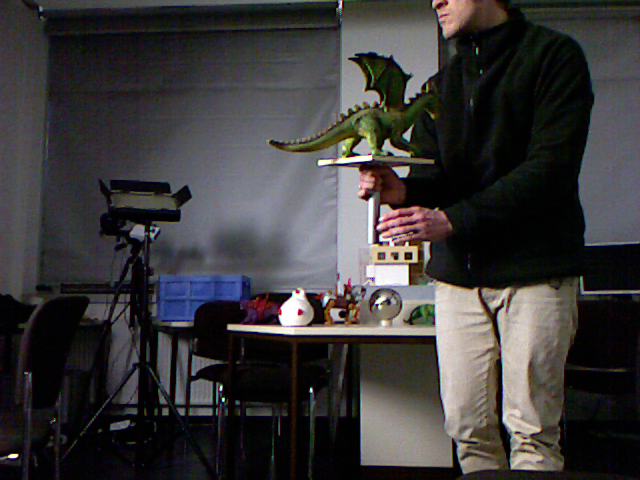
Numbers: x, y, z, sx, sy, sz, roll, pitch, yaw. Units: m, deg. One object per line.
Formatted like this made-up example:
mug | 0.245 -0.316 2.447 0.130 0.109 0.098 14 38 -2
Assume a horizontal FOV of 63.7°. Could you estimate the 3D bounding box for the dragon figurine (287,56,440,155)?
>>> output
dragon figurine | 0.126 -0.323 1.261 0.412 0.241 0.123 0 10 -22
